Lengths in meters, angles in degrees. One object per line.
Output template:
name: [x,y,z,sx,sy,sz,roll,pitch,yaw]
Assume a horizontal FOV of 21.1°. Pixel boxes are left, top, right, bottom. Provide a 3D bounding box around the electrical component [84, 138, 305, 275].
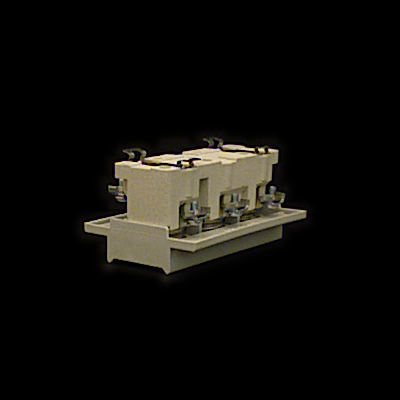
electrical component: [0.000,0.000,0.650,0.078,0.063,0.121,9,14,34]
